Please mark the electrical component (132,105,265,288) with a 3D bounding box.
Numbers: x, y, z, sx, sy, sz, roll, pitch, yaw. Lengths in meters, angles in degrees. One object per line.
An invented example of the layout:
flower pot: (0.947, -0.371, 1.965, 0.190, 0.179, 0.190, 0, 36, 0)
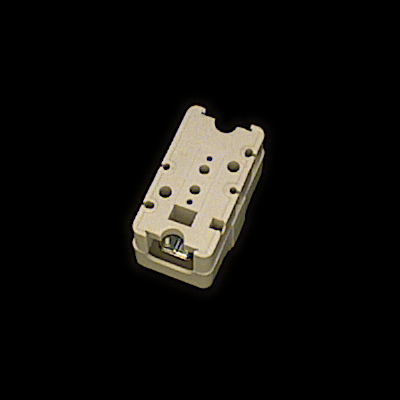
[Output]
electrical component: (0.000, 0.000, 0.636, 0.050, 0.090, 0.055, 20, -24, 9)
